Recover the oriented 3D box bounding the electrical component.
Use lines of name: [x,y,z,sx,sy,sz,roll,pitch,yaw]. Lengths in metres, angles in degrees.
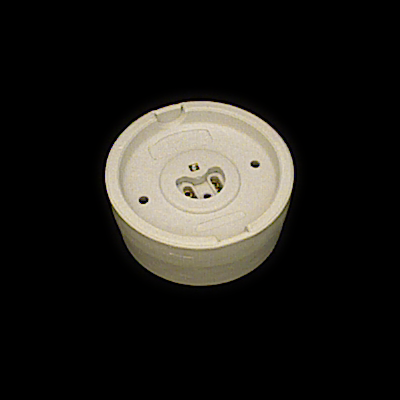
electrical component: [0.000,0.000,0.636,0.108,0.107,0.060,0,-37,-1]
